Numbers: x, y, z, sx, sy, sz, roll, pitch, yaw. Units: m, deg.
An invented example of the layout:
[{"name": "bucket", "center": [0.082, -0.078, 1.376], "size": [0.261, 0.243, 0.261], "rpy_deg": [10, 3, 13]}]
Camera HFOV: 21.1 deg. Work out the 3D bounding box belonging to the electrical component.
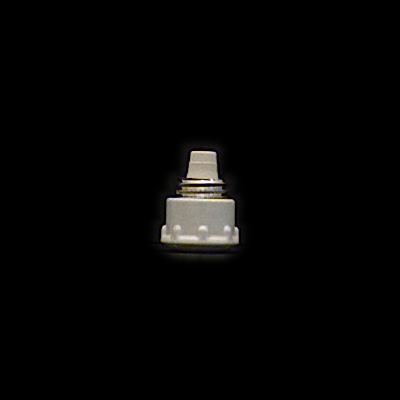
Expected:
[{"name": "electrical component", "center": [0.000, 0.000, 0.658], "size": [0.048, 0.062, 0.048], "rpy_deg": [2, 2, 0]}]
